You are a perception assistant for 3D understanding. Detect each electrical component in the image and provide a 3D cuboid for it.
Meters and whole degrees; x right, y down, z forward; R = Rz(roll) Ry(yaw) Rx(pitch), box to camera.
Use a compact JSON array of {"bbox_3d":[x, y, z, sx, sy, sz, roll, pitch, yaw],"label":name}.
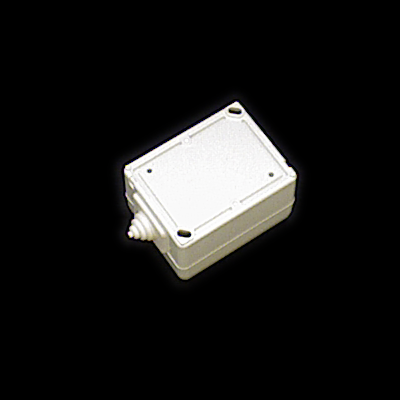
[{"bbox_3d":[0.000,0.000,0.623,0.097,0.062,0.060,-31,-23,-15],"label":"electrical component"}]
